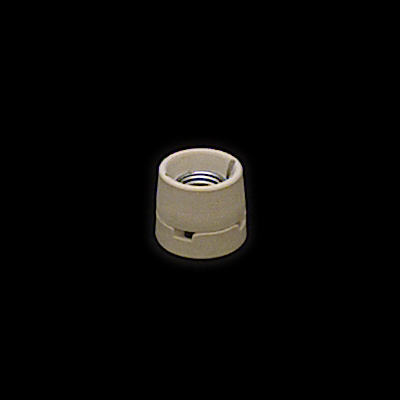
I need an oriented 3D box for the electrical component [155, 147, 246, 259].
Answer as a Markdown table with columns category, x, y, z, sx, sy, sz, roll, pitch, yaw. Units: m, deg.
| category | x | y | z | sx | sy | sz | roll | pitch | yaw |
| --- | --- | --- | --- | --- | --- | --- | --- | --- | --- |
| electrical component | 0.000 | 0.000 | 0.637 | 0.055 | 0.047 | 0.055 | 0 | 31 | 0 |
